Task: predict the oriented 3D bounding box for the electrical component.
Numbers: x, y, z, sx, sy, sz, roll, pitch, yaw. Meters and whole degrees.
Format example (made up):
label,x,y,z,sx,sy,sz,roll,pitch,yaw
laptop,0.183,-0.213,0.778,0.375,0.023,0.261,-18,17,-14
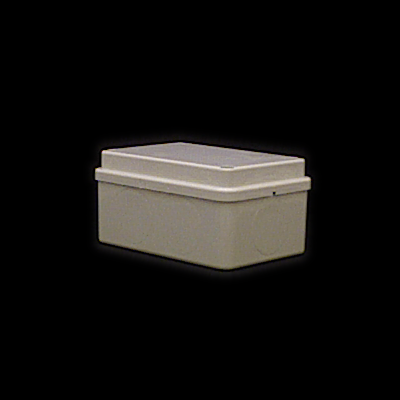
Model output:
label,x,y,z,sx,sy,sz,roll,pitch,yaw
electrical component,0.000,0.000,0.646,0.112,0.057,0.078,10,14,42
